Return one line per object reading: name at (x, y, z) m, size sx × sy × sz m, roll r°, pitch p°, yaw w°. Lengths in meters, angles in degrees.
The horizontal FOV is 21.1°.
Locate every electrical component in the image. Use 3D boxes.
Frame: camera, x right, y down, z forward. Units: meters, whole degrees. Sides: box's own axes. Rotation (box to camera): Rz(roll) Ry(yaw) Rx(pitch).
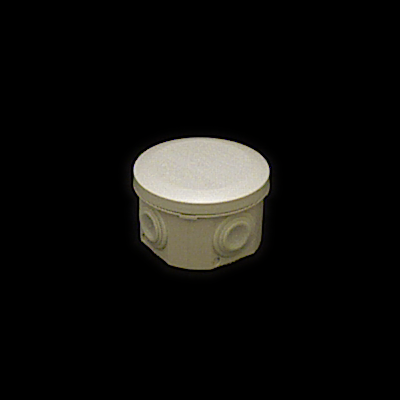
electrical component at (0.000, 0.000, 0.638) m, size 0.080 × 0.051 × 0.079 m, roll 1°, pitch 31°, yaw 0°
